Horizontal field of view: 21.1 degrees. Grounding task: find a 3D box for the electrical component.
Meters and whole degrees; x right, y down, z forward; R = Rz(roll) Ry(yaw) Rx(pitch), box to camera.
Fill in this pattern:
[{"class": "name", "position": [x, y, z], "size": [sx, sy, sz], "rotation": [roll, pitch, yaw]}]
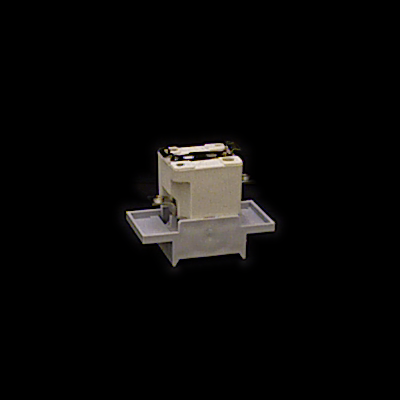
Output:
[{"class": "electrical component", "position": [0.000, 0.000, 0.637], "size": [0.081, 0.064, 0.041], "rotation": [-5, 22, -17]}]
